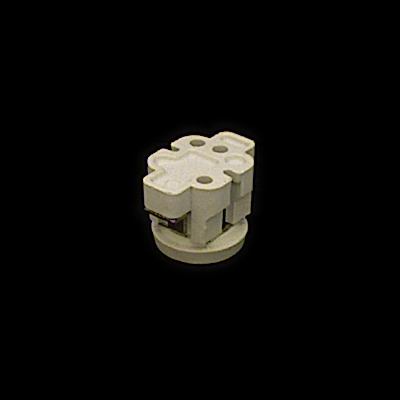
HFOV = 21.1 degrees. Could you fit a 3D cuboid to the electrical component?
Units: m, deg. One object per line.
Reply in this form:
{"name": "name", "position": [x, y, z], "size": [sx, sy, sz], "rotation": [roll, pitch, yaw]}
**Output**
{"name": "electrical component", "position": [0.000, 0.000, 0.640], "size": [0.057, 0.057, 0.078], "rotation": [24, 40, 30]}
